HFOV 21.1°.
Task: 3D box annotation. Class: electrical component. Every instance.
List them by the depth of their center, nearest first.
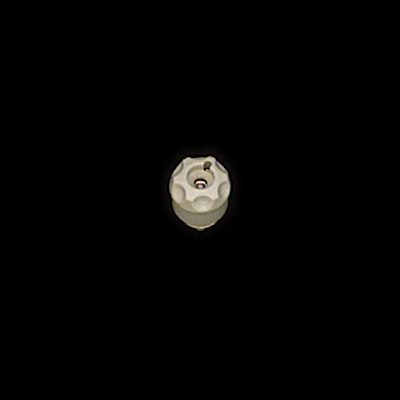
[{"bbox_3d":[0.000,0.000,0.634,0.035,0.035,0.061,0,-27,0],"label":"electrical component"}]
